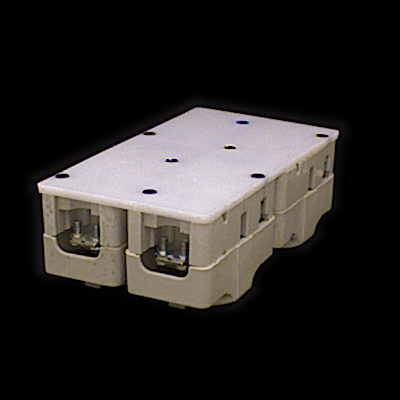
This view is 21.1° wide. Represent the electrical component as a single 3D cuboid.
[{"bbox_3d":[0.000,0.000,0.638,0.105,0.061,0.185,12,23,25],"label":"electrical component"}]
